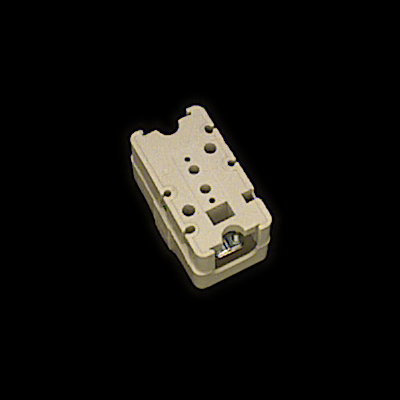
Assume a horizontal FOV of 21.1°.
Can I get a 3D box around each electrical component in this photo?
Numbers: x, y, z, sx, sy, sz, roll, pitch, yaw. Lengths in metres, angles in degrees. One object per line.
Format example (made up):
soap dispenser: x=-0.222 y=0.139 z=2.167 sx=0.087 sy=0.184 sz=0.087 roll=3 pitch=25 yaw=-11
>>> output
electrical component: x=0.000 y=0.000 z=0.636 sx=0.050 sy=0.089 sz=0.055 roll=-25 pitch=-23 yaw=-13
